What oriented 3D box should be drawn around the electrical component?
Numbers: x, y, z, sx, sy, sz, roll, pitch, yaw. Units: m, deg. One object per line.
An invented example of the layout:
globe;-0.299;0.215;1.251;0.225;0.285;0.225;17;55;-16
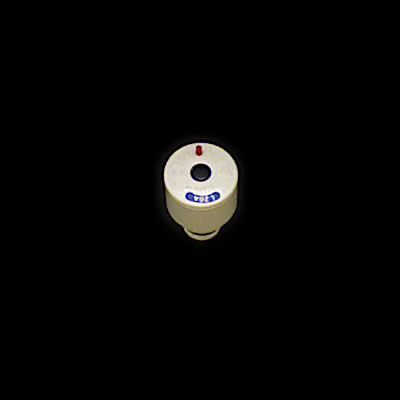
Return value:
electrical component;0.000;0.000;0.619;0.040;0.040;0.078;0;-28;0
